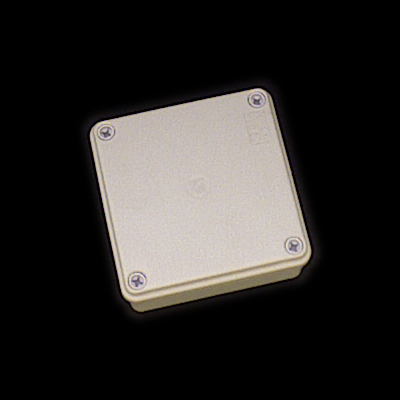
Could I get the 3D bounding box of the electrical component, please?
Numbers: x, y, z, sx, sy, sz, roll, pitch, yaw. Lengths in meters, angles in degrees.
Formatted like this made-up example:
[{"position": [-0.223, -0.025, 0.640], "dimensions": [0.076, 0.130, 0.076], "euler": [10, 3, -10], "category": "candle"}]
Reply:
[{"position": [0.000, 0.000, 0.629], "dimensions": [0.109, 0.109, 0.056], "euler": [-12, -17, -3], "category": "electrical component"}]
